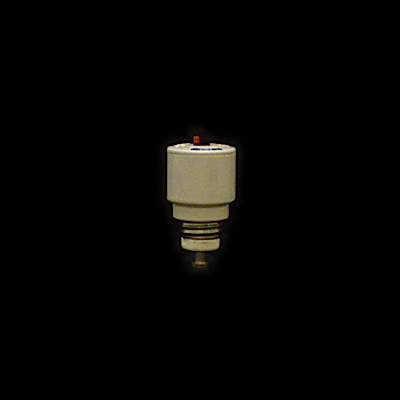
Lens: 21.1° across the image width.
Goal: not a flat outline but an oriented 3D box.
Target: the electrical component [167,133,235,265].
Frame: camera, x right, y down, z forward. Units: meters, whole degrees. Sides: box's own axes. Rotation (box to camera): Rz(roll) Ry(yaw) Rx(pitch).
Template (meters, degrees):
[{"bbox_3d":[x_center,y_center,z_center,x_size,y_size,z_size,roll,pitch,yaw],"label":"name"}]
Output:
[{"bbox_3d":[0.000,0.000,0.645,0.040,0.079,0.040,1,11,0],"label":"electrical component"}]
